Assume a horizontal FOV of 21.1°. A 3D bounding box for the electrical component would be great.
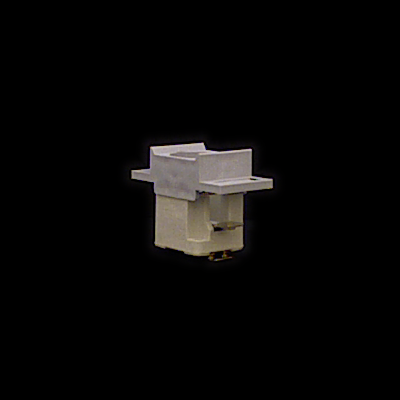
[{"bbox_3d":[0.000,0.000,0.642,0.042,0.064,0.080,-7,13,-40],"label":"electrical component"}]
